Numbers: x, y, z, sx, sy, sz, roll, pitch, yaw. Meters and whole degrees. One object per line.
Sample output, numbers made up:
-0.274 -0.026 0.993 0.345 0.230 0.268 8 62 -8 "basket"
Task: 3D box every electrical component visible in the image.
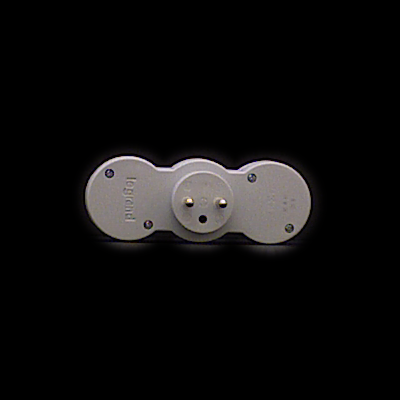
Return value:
0.000 0.000 0.650 0.138 0.052 0.073 2 2 -6 "electrical component"
